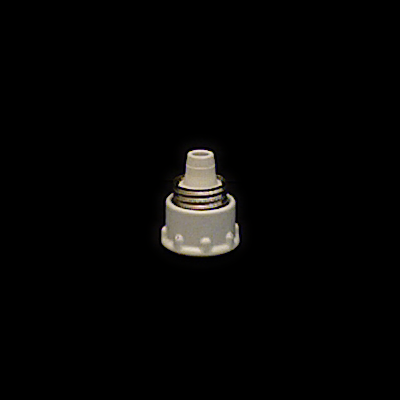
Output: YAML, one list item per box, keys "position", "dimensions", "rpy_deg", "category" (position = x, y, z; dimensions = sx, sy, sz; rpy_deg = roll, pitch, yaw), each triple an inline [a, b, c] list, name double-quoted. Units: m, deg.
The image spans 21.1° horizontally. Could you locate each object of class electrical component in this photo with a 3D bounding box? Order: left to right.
- position: [0.000, 0.000, 0.646]
  dimensions: [0.048, 0.063, 0.047]
  rpy_deg: [1, 21, 0]
  category: "electrical component"
